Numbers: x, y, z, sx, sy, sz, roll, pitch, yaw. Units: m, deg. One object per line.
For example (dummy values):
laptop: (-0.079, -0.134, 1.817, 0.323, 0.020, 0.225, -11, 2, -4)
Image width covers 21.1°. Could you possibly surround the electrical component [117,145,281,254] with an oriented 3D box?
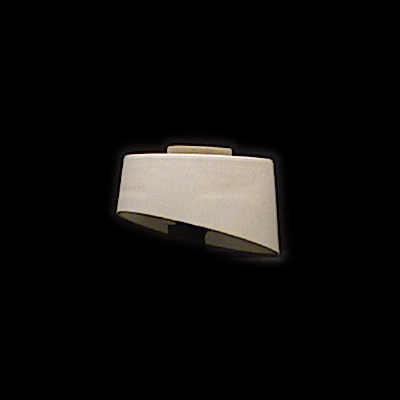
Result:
electrical component: (0.000, 0.000, 0.648, 0.099, 0.064, 0.099, 2, 0, 0)
